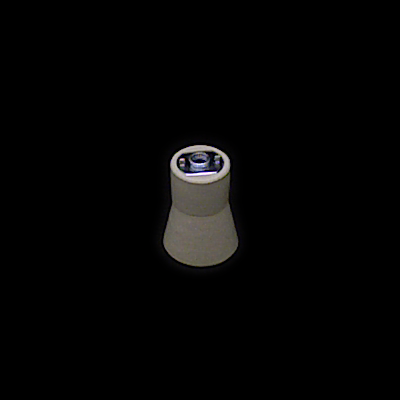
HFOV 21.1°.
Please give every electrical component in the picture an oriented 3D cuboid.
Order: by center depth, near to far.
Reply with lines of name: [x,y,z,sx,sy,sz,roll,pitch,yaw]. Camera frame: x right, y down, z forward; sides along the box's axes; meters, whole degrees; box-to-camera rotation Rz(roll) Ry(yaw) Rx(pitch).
electrical component: [0.000,0.000,0.631,0.044,0.066,0.044,0,41,0]
